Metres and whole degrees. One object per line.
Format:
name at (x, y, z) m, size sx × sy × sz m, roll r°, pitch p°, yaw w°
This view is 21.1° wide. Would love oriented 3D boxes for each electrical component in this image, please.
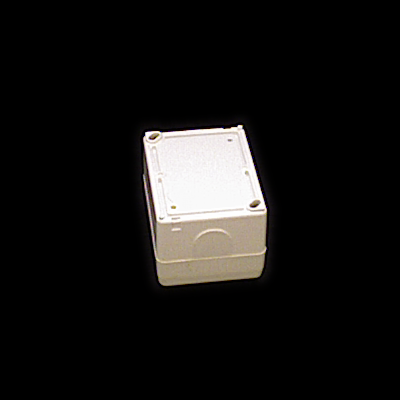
electrical component at (0.000, 0.000, 0.633) m, size 0.062 × 0.061 × 0.095 m, roll -5°, pitch 42°, yaw -7°
